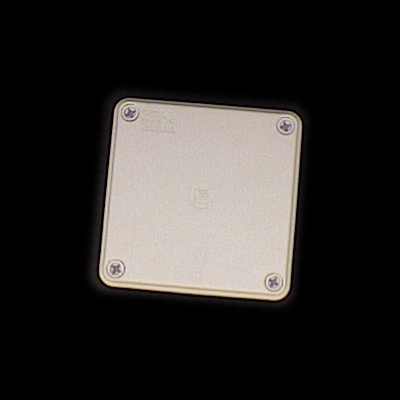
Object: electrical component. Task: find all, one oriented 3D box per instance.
[{"bbox_3d":[0.000,0.000,0.630,0.109,0.109,0.056,5,-6,1],"label":"electrical component"}]
